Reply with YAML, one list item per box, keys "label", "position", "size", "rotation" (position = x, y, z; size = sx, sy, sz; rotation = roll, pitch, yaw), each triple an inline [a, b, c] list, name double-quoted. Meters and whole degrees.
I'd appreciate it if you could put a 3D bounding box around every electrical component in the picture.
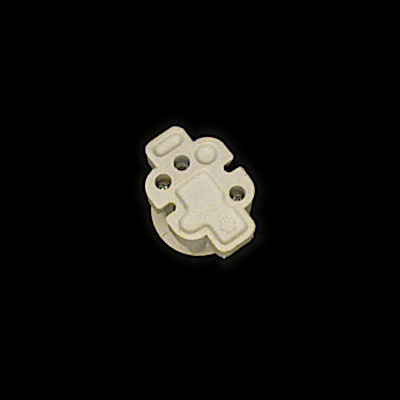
- label: "electrical component"
  position: [0.000, 0.000, 0.635]
  size: [0.058, 0.078, 0.056]
  rotation: [-36, -12, -10]
